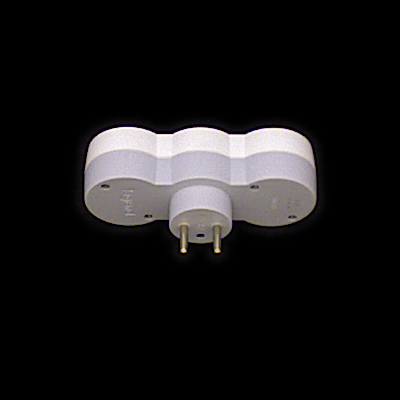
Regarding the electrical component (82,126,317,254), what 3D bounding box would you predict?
[{"bbox_3d":[0.000,0.000,0.632,0.138,0.073,0.052,0,-36,-1],"label":"electrical component"}]
